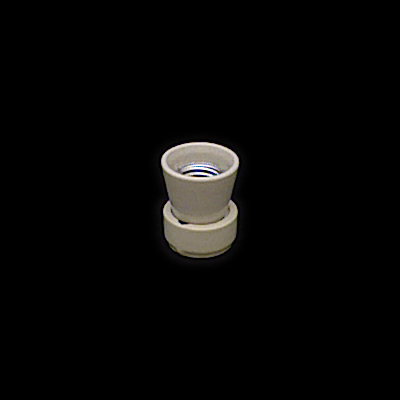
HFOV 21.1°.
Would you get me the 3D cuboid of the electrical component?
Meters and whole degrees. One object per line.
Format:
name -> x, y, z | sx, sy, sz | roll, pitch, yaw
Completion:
electrical component -> 0.000, 0.000, 0.634 | 0.045, 0.056, 0.044 | 1, 31, 0
